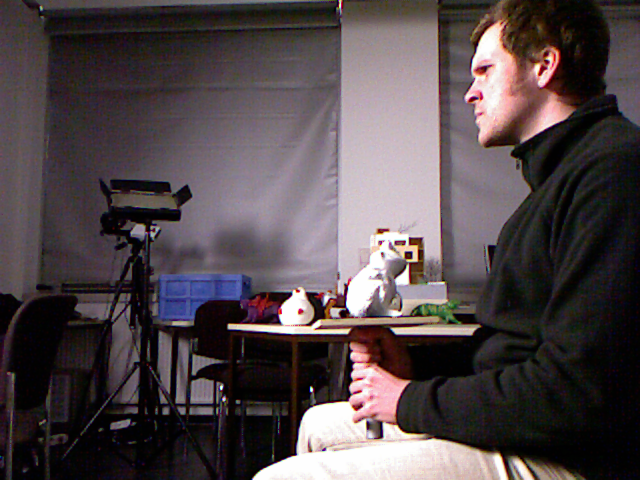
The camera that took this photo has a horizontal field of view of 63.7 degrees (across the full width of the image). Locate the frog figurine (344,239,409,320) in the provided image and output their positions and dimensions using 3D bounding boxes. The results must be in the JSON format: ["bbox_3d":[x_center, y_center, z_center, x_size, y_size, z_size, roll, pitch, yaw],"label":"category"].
[{"bbox_3d":[0.106,0.075,0.976,0.122,0.161,0.136,-1,-10,12],"label":"frog figurine"}]
